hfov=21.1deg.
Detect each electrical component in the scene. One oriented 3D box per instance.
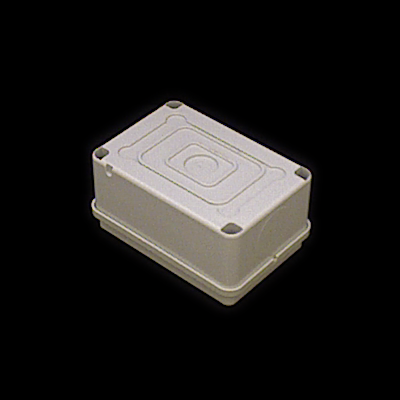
[{"bbox_3d":[0.000,0.000,0.632,0.112,0.057,0.078,31,50,28],"label":"electrical component"}]
